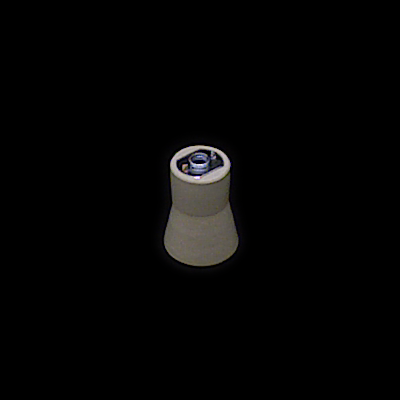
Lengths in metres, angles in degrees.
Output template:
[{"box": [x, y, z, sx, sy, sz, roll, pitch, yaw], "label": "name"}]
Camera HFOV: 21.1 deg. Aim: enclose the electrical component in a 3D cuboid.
[{"box": [0.000, 0.000, 0.631, 0.044, 0.066, 0.044, 0, 41, 0], "label": "electrical component"}]
